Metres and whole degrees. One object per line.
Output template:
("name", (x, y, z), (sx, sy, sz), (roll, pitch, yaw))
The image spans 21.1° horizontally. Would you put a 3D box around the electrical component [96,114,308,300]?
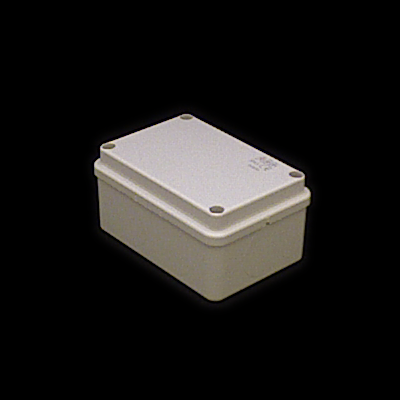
("electrical component", (0.000, 0.000, 0.636), (0.078, 0.058, 0.112), (-24, 39, -35))
